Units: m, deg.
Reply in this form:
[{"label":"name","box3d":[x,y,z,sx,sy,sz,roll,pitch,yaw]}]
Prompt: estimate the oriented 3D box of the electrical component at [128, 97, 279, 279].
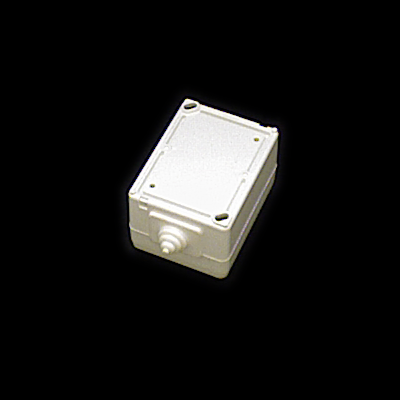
[{"label":"electrical component","box3d":[0.000,0.000,0.623,0.061,0.096,0.061,19,-36,13]}]
